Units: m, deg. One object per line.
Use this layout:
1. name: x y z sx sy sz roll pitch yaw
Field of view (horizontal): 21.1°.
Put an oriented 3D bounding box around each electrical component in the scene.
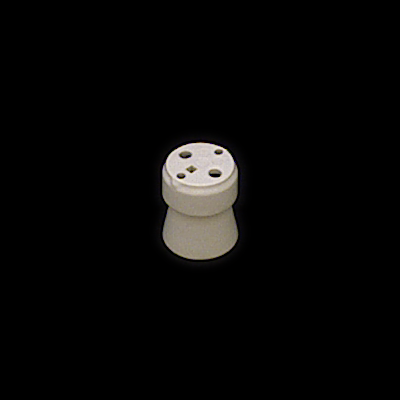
1. electrical component: 0.000 0.000 0.633 0.045 0.055 0.044 1 42 0
